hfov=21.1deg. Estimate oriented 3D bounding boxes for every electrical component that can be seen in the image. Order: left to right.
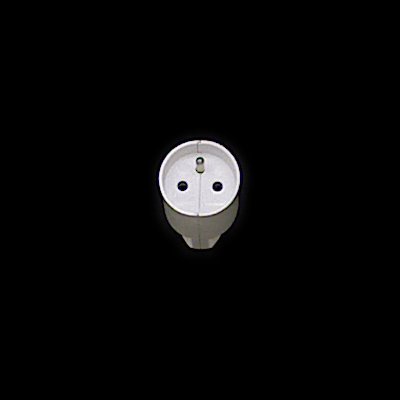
[{"bbox_3d":[0.000,0.000,0.616,0.043,0.043,0.080,0,-17,0],"label":"electrical component"}]
